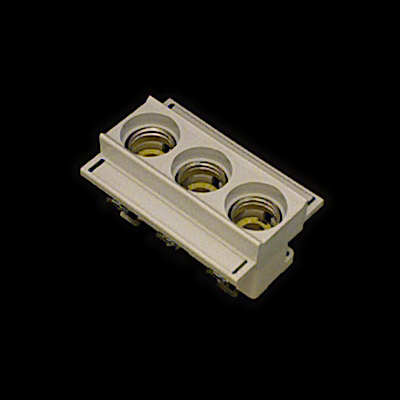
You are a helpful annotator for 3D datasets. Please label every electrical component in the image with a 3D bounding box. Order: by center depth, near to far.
[{"bbox_3d":[0.000,0.000,0.640,0.120,0.063,0.078,35,59,24],"label":"electrical component"}]
